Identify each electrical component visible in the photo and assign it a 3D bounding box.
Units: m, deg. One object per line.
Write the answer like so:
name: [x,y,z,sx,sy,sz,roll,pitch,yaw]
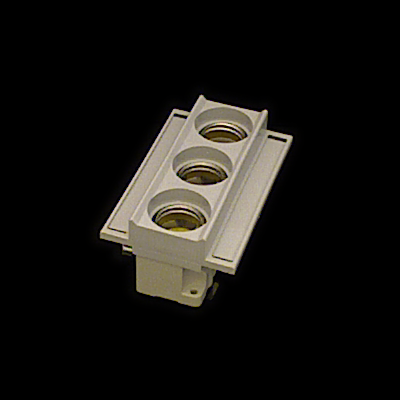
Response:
electrical component: [0.000,0.000,0.643,0.078,0.064,0.120,14,44,13]
